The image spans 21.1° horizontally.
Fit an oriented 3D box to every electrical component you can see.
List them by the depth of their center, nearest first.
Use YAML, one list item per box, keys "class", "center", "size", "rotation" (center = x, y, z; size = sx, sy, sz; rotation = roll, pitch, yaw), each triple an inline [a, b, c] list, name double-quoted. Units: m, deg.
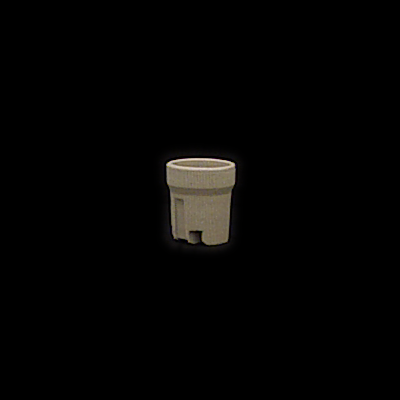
- class: "electrical component"
  center: [0.000, 0.000, 0.643]
  size: [0.040, 0.046, 0.040]
  rotation: [1, 11, 0]
